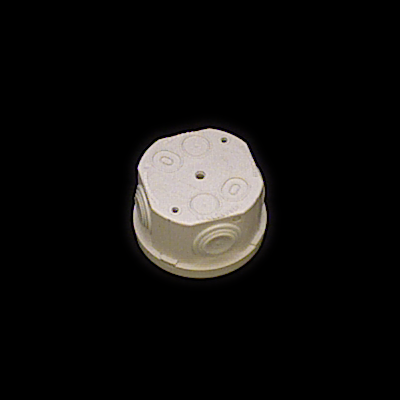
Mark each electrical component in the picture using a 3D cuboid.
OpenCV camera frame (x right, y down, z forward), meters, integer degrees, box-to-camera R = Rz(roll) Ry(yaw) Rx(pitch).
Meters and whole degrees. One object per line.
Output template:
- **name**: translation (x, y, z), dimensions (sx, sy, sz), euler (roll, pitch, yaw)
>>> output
- **electrical component**: translation (0.000, 0.000, 0.633), dimensions (0.080, 0.080, 0.051), euler (0, -38, -1)
